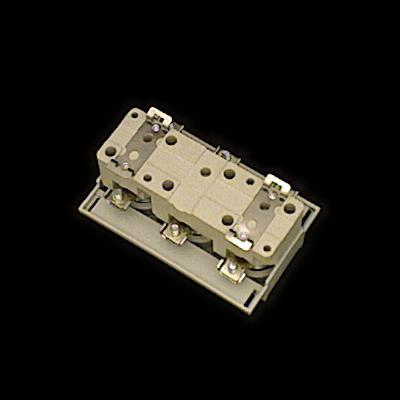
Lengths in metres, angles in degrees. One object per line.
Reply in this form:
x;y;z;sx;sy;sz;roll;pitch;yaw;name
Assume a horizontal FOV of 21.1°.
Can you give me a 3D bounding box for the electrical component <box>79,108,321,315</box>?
0.000;0.000;0.632;0.121;0.079;0.063;30;-22;14;electrical component
